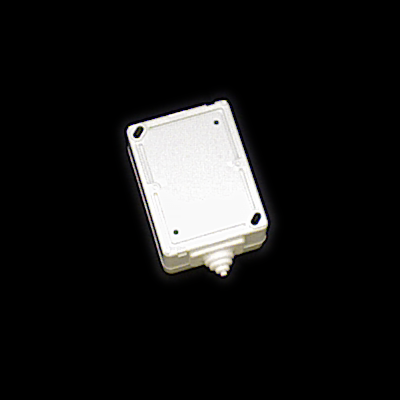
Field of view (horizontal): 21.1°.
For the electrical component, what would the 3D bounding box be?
[{"bbox_3d":[0.000,0.000,0.624,0.062,0.097,0.060,-16,-16,-6],"label":"electrical component"}]
